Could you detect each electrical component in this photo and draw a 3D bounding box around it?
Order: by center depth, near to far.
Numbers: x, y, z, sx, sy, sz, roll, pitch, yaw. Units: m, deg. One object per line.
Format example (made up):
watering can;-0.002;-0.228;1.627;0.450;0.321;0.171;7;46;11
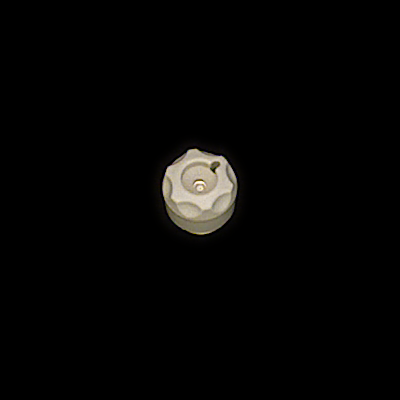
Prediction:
electrical component;0.000;0.000;0.633;0.043;0.043;0.062;0;-26;1
